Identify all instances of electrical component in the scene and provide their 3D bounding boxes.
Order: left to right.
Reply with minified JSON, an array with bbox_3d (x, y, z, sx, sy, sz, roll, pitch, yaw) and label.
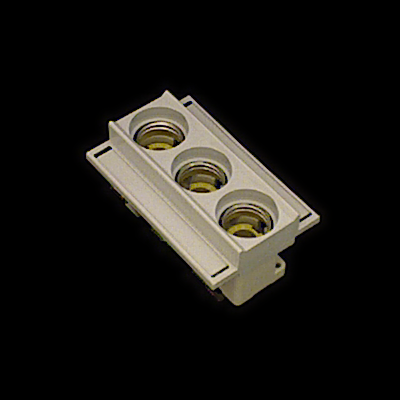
[{"bbox_3d":[0.000,0.000,0.640,0.079,0.120,0.063,-32,-31,-23],"label":"electrical component"}]
